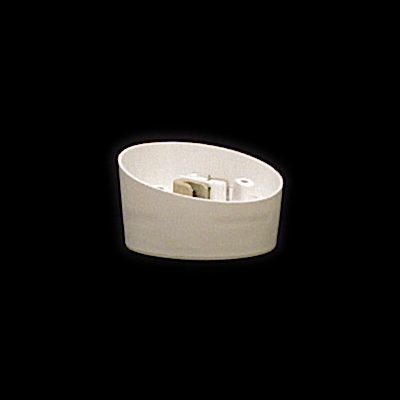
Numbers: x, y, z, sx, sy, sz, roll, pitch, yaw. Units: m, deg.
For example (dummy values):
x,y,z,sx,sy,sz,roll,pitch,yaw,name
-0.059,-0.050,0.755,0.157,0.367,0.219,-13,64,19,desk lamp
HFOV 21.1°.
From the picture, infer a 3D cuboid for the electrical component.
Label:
x,y,z,sx,sy,sz,roll,pitch,yaw,name
0.000,0.000,0.644,0.099,0.064,0.098,0,10,0,electrical component
